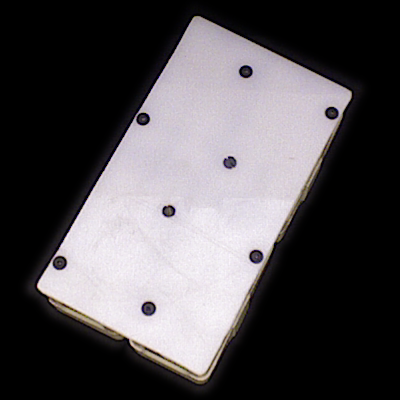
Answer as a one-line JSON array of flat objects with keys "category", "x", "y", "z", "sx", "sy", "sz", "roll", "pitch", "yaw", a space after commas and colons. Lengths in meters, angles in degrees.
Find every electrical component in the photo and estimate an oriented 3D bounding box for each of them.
[{"category": "electrical component", "x": 0.000, "y": 0.000, "z": 0.625, "sx": 0.105, "sy": 0.187, "sz": 0.060, "roll": 27, "pitch": -15, "yaw": 7}]
